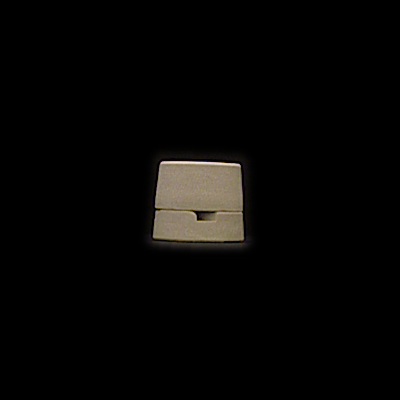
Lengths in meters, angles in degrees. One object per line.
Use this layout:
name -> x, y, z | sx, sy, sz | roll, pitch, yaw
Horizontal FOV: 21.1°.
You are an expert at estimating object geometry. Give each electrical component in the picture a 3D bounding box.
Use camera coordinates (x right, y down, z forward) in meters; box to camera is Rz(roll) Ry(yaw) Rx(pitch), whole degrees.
electrical component -> 0.000, 0.000, 0.649 | 0.055, 0.047, 0.055 | 2, 2, 0
